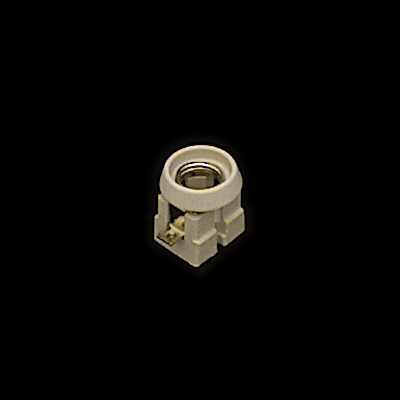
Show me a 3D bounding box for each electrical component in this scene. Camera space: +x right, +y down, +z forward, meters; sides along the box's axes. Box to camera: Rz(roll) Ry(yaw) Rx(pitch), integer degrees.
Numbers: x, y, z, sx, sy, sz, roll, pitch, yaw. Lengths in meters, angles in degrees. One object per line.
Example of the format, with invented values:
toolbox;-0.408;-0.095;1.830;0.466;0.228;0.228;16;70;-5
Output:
electrical component;0.000;0.000;0.639;0.048;0.056;0.066;29;50;30
